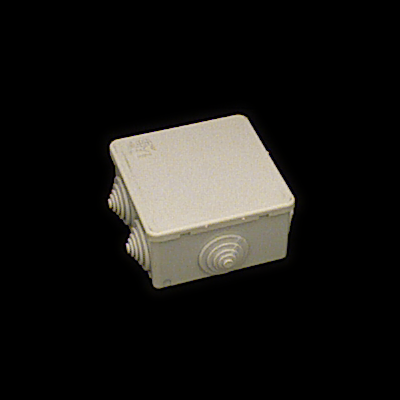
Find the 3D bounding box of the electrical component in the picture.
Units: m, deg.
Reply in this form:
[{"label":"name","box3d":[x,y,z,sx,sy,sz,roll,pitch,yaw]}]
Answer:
[{"label":"electrical component","box3d":[0.000,0.000,0.642,0.100,0.049,0.098,-13,44,-14]}]
